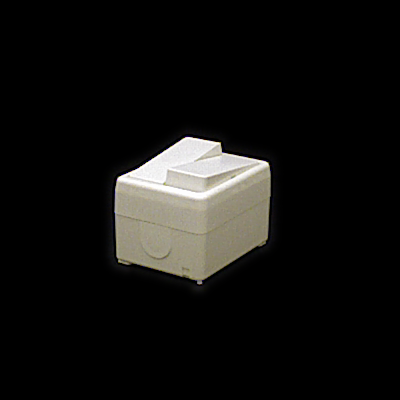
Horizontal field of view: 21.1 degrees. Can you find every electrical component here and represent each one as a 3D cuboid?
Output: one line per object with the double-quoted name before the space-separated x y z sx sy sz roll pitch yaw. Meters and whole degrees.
"electrical component" 0.000 0.000 0.641 0.061 0.061 0.095 14 24 30
